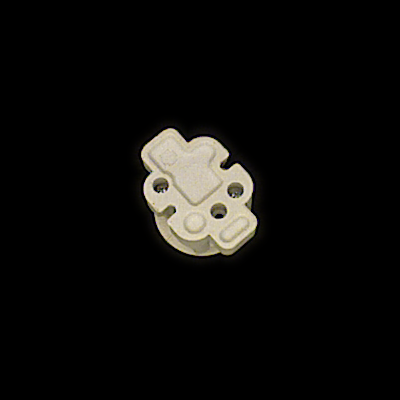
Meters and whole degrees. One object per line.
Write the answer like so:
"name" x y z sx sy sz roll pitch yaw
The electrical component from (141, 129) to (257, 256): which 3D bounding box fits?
"electrical component" 0.000 0.000 0.635 0.058 0.078 0.056 -41 -14 -10
